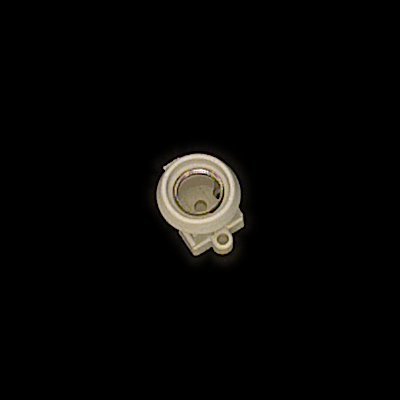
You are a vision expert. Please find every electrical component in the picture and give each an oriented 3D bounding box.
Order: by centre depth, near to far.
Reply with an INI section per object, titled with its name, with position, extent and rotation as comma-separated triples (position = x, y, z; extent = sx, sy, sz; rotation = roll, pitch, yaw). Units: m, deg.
[electrical component]
position = 0.000, 0.000, 0.637
extent = 0.049, 0.066, 0.055
rotation = -33, -14, -11
